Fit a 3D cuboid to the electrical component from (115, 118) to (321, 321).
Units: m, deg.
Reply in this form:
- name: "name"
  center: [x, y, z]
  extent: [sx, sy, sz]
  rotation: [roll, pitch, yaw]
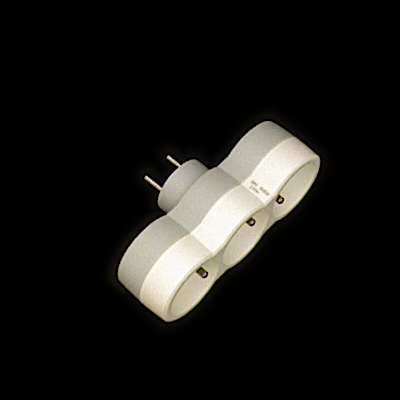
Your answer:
- name: "electrical component"
  center: [0.000, 0.000, 0.639]
  extent: [0.073, 0.139, 0.052]
  rotation: [39, -21, 19]
